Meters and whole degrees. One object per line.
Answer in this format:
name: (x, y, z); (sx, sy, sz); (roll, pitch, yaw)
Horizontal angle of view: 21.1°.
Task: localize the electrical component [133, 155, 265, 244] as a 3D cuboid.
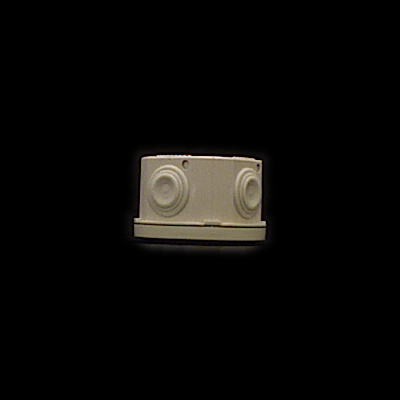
electrical component: (0.000, 0.000, 0.651); (0.080, 0.051, 0.080); (2, 0, 0)
